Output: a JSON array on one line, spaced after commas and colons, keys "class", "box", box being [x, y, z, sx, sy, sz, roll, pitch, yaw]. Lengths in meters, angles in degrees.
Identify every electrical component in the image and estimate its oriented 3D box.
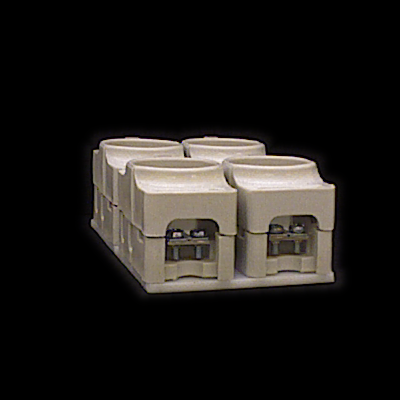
[{"class": "electrical component", "box": [0.000, 0.000, 0.644, 0.106, 0.060, 0.184, -2, 10, -15]}]
